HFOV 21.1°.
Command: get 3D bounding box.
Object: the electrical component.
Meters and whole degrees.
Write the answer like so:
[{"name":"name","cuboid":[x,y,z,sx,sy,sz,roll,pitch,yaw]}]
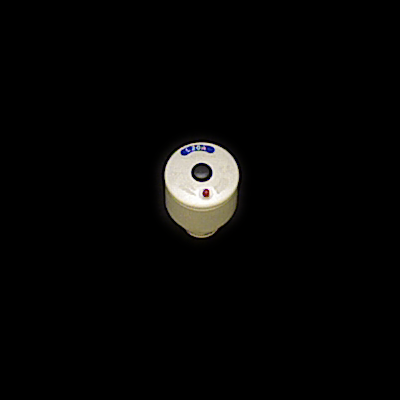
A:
[{"name":"electrical component","cuboid":[0.000,0.000,0.617,0.040,0.040,0.078,0,-27,0]}]
